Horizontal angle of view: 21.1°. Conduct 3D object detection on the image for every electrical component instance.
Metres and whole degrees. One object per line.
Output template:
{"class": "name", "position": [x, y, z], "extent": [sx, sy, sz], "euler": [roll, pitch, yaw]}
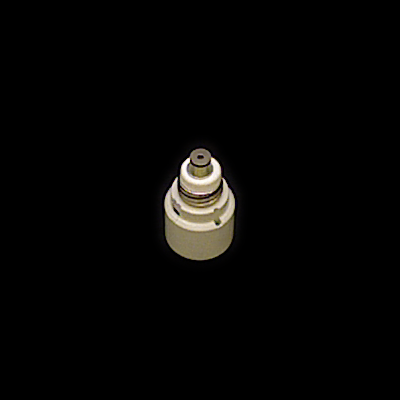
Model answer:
{"class": "electrical component", "position": [0.000, 0.000, 0.622], "extent": [0.040, 0.040, 0.079], "euler": [0, -37, -2]}
